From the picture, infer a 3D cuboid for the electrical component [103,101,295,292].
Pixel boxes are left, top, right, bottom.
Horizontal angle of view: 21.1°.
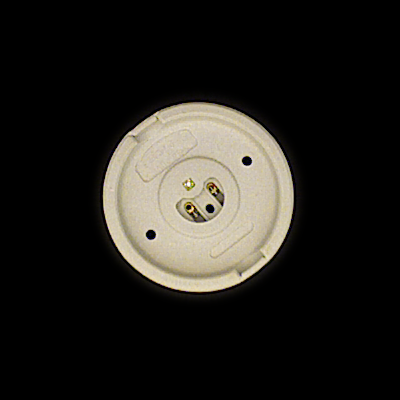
[{"bbox_3d":[0.000,0.000,0.635,0.108,0.108,0.060,0,-5,0],"label":"electrical component"}]
